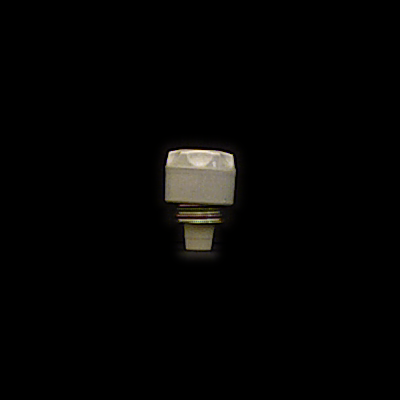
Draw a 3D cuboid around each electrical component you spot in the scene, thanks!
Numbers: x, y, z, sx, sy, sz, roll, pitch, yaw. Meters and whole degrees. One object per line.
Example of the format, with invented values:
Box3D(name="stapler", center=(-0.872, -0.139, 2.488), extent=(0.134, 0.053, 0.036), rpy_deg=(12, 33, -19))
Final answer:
Box3D(name="electrical component", center=(0.000, 0.000, 0.656), extent=(0.043, 0.062, 0.043), rpy_deg=(2, 2, 0))
